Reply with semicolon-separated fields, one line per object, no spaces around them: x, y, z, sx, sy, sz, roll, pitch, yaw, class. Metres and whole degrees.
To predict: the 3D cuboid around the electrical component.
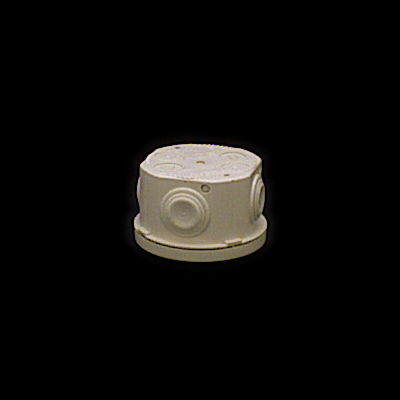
0.000;0.000;0.642;0.080;0.051;0.079;1;20;0;electrical component
